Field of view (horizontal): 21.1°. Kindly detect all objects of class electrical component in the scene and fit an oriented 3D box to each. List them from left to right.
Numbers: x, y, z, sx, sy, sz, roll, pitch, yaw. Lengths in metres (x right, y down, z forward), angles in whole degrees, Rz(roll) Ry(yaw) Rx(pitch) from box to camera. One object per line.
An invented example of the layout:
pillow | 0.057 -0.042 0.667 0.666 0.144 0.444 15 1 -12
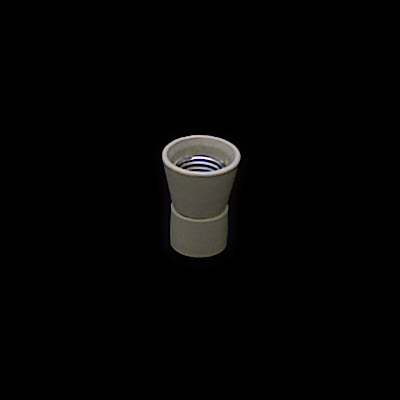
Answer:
electrical component | 0.000 0.000 0.632 0.044 0.066 0.044 1 32 -1
